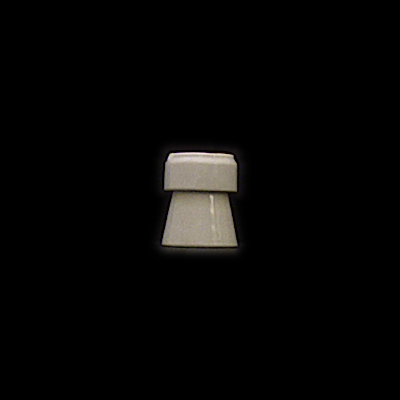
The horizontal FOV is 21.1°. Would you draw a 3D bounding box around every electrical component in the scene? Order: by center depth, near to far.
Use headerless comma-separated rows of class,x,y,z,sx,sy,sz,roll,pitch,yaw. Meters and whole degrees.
electrical component,0.000,0.000,0.651,0.045,0.055,0.045,2,1,0
